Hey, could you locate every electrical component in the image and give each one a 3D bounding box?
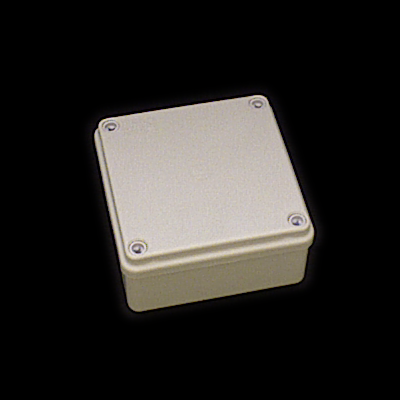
[{"bbox_3d":[0.000,0.000,0.630,0.109,0.108,0.056,-10,-36,-8],"label":"electrical component"}]
